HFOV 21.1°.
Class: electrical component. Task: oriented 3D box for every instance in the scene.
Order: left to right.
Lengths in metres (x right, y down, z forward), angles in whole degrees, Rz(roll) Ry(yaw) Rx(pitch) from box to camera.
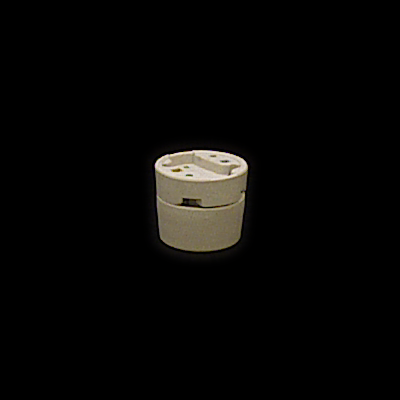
[{"bbox_3d":[0.000,0.000,0.642,0.055,0.047,0.055,1,21,0],"label":"electrical component"}]
